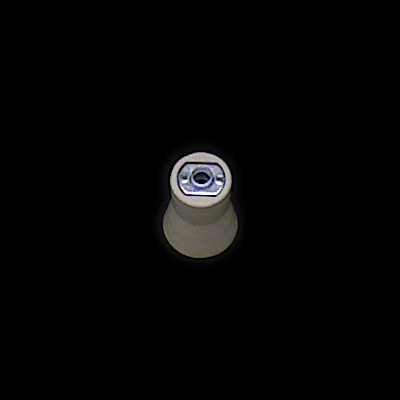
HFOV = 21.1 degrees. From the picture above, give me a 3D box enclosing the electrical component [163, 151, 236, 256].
[{"bbox_3d":[0.000,0.000,0.624,0.044,0.044,0.065,0,-26,0],"label":"electrical component"}]
